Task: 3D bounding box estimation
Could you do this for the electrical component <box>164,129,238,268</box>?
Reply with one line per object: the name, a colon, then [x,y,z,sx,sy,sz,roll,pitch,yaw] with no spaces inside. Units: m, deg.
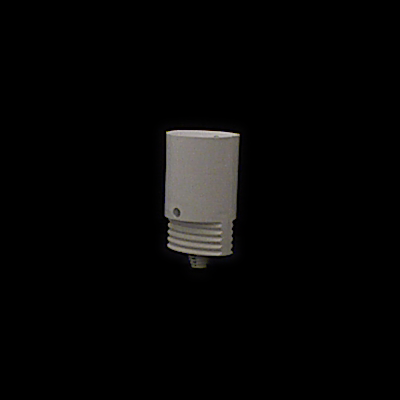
electrical component: [0.000,0.000,0.643,0.043,0.082,0.042,1,12,0]
